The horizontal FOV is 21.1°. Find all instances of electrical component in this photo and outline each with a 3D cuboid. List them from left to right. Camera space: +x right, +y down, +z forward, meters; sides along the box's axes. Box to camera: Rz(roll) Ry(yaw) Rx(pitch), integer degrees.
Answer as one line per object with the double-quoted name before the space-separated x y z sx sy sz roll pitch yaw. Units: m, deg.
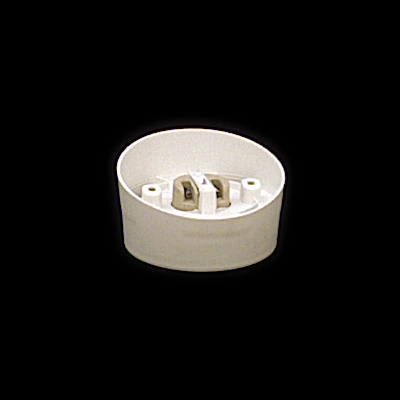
"electrical component" 0.000 0.000 0.638 0.099 0.065 0.097 1 20 0
